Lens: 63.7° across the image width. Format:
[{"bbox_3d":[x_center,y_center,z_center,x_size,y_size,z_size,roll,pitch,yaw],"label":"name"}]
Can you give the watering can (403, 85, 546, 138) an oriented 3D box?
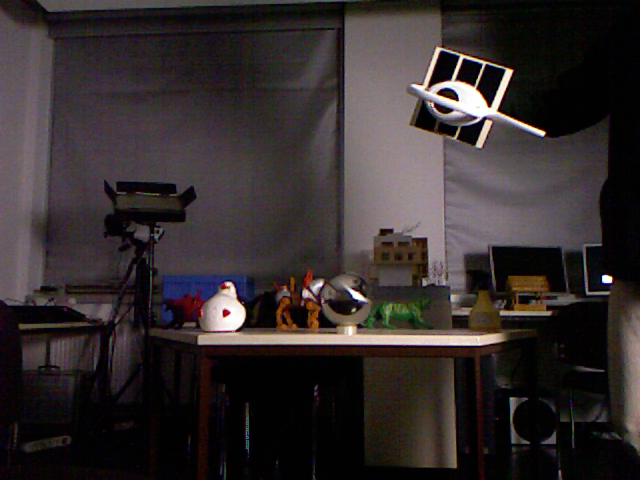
[{"bbox_3d":[0.376,-0.320,1.297,0.349,0.103,0.227,21,16,8],"label":"watering can"}]
